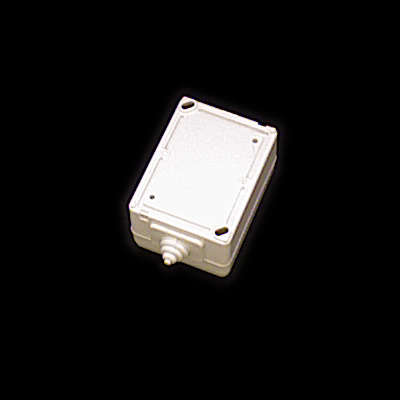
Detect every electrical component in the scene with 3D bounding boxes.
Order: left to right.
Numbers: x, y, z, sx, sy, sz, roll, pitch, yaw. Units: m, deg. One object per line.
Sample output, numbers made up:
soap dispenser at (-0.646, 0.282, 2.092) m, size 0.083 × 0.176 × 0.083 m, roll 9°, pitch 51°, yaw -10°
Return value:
electrical component at (0.000, 0.000, 0.627) m, size 0.061 × 0.096 × 0.061 m, roll 20°, pitch -25°, yaw 10°
